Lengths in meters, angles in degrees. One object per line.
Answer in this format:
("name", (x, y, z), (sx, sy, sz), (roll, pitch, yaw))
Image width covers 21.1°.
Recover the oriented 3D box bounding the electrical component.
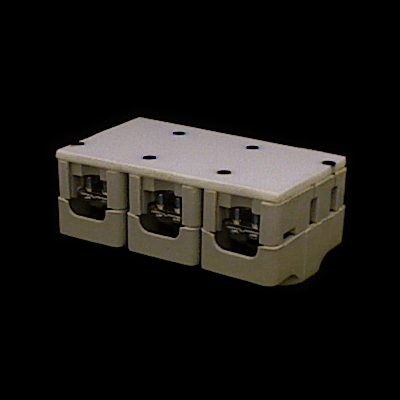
("electrical component", (0.000, 0.000, 0.646), (0.149, 0.063, 0.088), (13, 24, 29))
